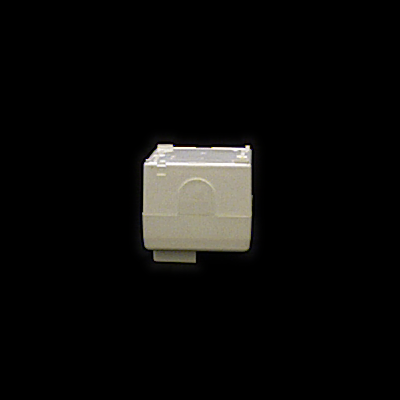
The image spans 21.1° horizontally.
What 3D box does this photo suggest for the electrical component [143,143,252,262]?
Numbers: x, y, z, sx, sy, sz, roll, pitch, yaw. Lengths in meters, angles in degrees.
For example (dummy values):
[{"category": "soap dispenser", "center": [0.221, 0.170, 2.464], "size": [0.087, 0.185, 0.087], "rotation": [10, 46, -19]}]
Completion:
[{"category": "electrical component", "center": [0.000, 0.000, 0.652], "size": [0.062, 0.061, 0.095], "rotation": [1, 10, 3]}]
